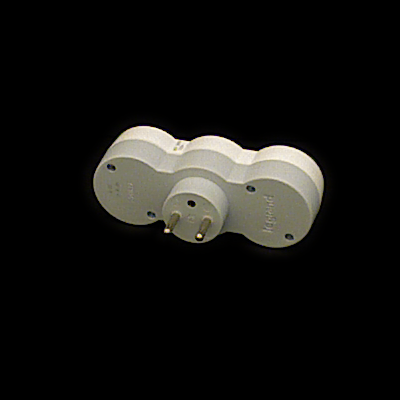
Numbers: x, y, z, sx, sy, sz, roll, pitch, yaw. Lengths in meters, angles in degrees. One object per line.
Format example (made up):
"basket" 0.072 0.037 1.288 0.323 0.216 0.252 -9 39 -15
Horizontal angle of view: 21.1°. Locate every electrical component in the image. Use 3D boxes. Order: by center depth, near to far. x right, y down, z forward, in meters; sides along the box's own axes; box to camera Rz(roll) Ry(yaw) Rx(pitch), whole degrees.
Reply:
"electrical component" 0.000 0.000 0.641 0.137 0.053 0.073 9 35 12
